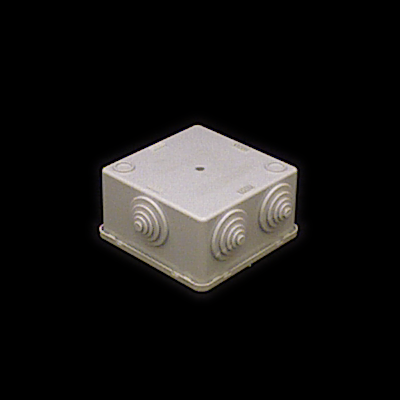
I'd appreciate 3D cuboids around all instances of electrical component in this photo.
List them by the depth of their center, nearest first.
[{"bbox_3d":[0.000,0.000,0.638,0.099,0.049,0.099,27,40,35],"label":"electrical component"}]
